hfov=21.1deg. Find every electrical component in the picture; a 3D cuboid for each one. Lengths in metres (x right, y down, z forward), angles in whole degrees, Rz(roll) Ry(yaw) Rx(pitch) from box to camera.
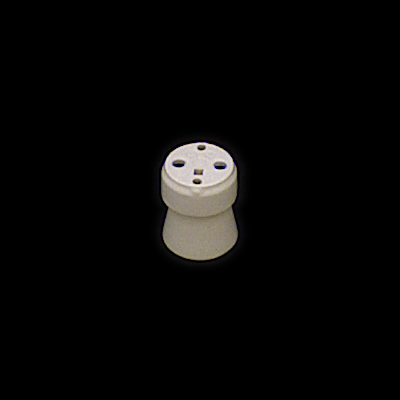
[{"bbox_3d":[0.000,0.000,0.632,0.045,0.055,0.044,0,42,0],"label":"electrical component"}]
